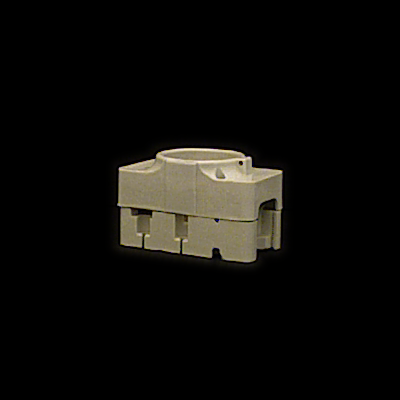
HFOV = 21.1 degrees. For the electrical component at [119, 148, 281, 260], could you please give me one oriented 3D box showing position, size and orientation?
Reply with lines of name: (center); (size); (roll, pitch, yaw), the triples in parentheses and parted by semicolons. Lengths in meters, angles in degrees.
electrical component: (0.000, 0.000, 0.651); (0.089, 0.056, 0.050); (6, 13, 25)
